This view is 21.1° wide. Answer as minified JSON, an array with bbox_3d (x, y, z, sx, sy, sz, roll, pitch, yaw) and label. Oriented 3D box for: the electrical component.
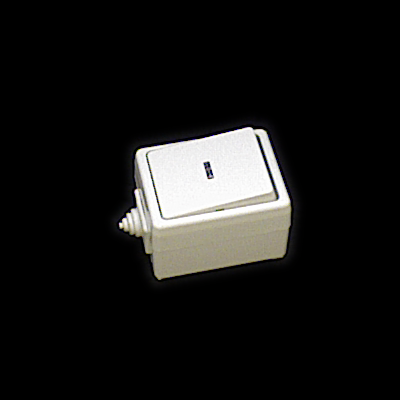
[{"bbox_3d":[0.000,0.000,0.628,0.096,0.061,0.061,-10,-37,-8],"label":"electrical component"}]
